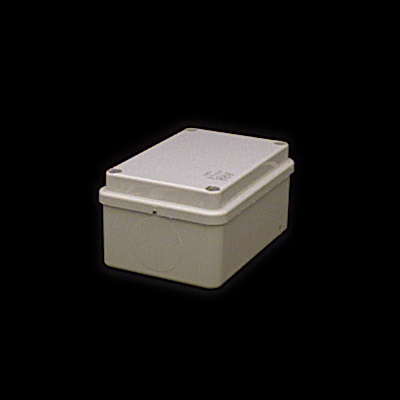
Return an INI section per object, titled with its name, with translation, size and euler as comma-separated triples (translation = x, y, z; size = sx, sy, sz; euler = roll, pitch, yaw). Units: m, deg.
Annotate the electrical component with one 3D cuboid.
[electrical component]
translation = 0.000, 0.000, 0.638
size = 0.078, 0.058, 0.112
euler = 11, 23, 24
